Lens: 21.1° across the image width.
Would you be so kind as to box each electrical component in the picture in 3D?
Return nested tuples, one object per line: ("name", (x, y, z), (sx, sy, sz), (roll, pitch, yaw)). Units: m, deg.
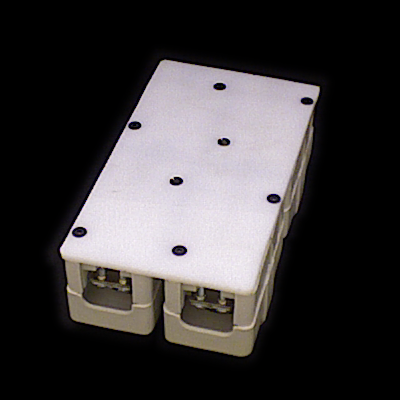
("electrical component", (0.000, 0.000, 0.630), (0.105, 0.061, 0.184), (11, 43, 11))
